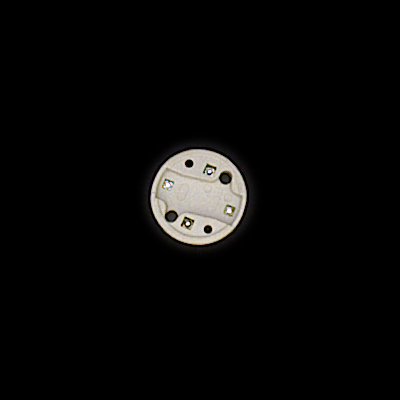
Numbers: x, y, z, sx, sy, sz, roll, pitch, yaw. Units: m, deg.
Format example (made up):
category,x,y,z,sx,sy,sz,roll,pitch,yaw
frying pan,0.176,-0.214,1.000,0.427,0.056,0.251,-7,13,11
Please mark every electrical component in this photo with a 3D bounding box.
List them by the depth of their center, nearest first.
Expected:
category,x,y,z,sx,sy,sz,roll,pitch,yaw
electrical component,0.000,0.000,0.636,0.055,0.055,0.047,0,-6,0
